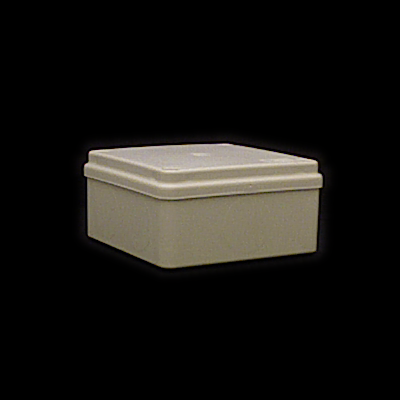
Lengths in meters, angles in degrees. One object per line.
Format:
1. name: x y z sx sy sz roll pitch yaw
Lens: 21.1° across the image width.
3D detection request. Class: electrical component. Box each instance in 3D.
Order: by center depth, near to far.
1. electrical component: 0.000 0.000 0.645 0.109 0.056 0.107 -5 11 -30
